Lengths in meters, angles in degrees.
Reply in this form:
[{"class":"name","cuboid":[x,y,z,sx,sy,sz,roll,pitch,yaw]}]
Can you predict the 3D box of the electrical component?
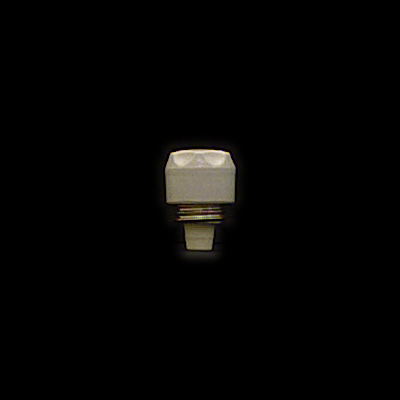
[{"class":"electrical component","cuboid":[0.000,0.000,0.656,0.043,0.062,0.043,1,2,1]}]
